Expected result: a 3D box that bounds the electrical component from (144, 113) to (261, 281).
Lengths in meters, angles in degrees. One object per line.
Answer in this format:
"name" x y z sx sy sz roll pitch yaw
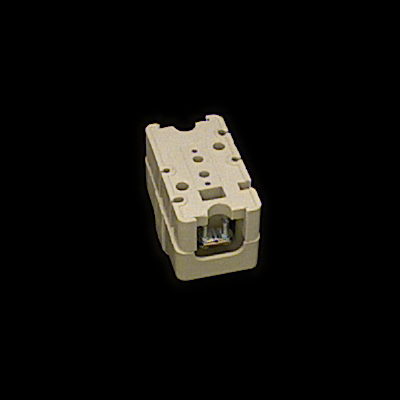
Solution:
"electrical component" 0.000 0.000 0.639 0.050 0.056 0.088 -9 44 -11
